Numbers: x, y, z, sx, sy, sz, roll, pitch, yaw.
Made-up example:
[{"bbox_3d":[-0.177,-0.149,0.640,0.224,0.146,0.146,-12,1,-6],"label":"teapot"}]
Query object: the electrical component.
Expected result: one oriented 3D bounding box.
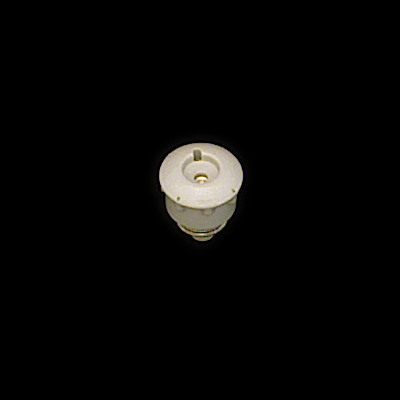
[{"bbox_3d":[0.000,0.000,0.635,0.048,0.048,0.062,0,-37,0],"label":"electrical component"}]
